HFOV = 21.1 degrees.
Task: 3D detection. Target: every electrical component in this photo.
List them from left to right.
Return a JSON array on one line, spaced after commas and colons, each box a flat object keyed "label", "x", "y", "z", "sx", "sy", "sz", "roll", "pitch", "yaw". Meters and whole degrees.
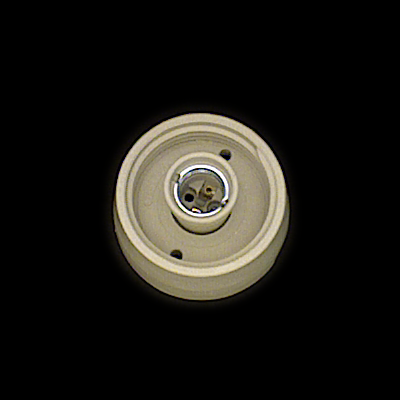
[{"label": "electrical component", "x": 0.000, "y": 0.000, "z": 0.633, "sx": 0.108, "sy": 0.108, "sz": 0.060, "roll": 0, "pitch": -16, "yaw": 0}]
